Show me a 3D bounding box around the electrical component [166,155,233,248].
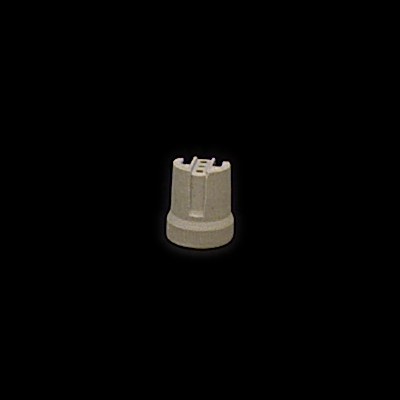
[{"bbox_3d":[0.000,0.000,0.643,0.040,0.046,0.040,1,22,0],"label":"electrical component"}]
